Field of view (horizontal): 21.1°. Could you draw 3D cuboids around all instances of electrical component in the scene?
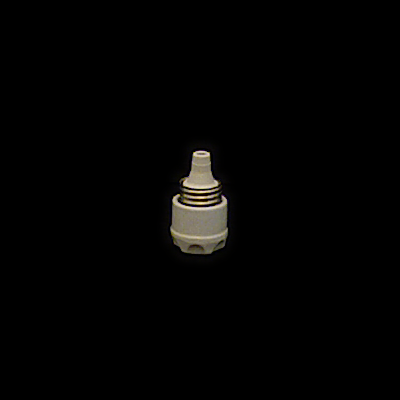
[{"bbox_3d":[0.000,0.000,0.652,0.035,0.062,0.034,2,22,0],"label":"electrical component"}]
